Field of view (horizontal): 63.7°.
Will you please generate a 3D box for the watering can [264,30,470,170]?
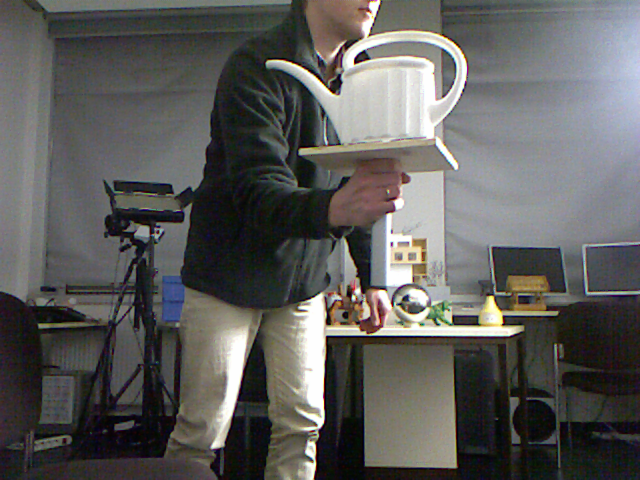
[{"bbox_3d":[0.067,-0.224,0.850,0.348,0.225,0.104,0,-1,21],"label":"watering can"}]
